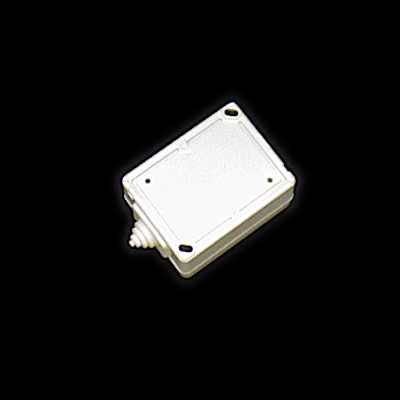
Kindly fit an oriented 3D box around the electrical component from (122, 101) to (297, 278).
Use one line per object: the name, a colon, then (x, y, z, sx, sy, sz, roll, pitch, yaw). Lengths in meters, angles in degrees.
electrical component: (0.000, 0.000, 0.624, 0.097, 0.062, 0.060, -36, -13, -10)
